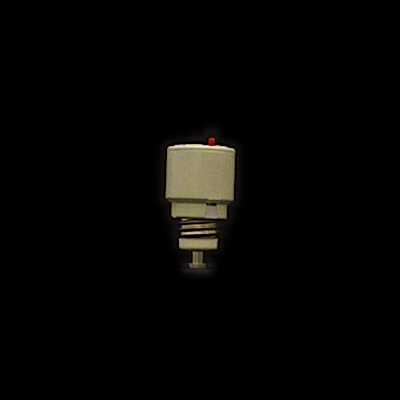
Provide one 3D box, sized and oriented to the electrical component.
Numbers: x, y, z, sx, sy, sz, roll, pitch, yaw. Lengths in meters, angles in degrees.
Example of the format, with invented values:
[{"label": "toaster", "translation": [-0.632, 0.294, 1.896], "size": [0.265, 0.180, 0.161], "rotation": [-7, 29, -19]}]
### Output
[{"label": "electrical component", "translation": [0.000, 0.000, 0.647], "size": [0.040, 0.078, 0.040], "rotation": [2, 1, 0]}]
